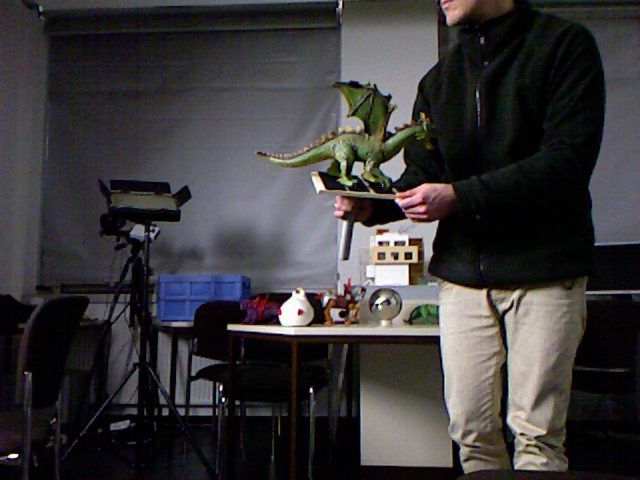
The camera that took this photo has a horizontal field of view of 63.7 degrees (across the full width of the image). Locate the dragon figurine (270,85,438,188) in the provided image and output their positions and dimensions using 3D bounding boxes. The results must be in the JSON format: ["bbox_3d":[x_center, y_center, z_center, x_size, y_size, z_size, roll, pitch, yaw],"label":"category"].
[{"bbox_3d":[0.082,-0.262,1.275,0.411,0.239,0.125,9,25,4],"label":"dragon figurine"}]
